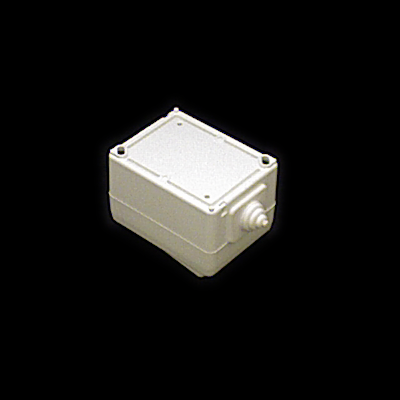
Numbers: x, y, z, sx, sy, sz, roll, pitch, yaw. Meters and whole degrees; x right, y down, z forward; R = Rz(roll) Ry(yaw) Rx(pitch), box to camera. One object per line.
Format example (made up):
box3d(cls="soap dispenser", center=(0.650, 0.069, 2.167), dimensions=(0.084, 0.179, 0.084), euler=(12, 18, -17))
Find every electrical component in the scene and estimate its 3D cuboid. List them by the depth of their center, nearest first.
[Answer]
box3d(cls="electrical component", center=(0.000, 0.000, 0.628), dimensions=(0.096, 0.061, 0.061), euler=(30, 48, 29))
